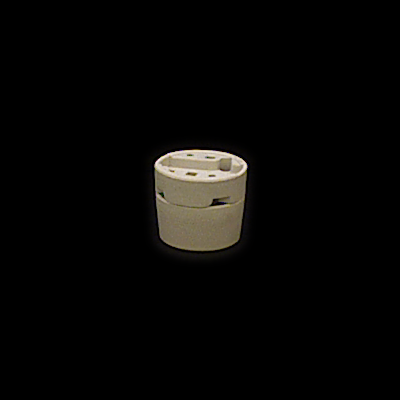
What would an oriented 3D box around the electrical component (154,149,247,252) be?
[{"bbox_3d":[0.000,0.000,0.642,0.055,0.047,0.055,1,21,0],"label":"electrical component"}]
